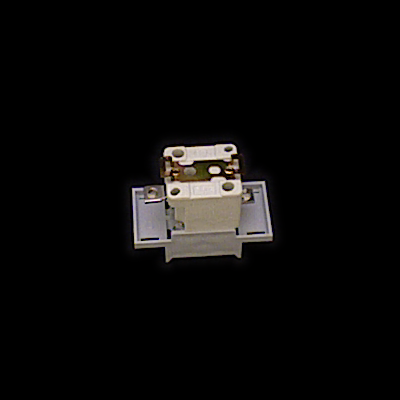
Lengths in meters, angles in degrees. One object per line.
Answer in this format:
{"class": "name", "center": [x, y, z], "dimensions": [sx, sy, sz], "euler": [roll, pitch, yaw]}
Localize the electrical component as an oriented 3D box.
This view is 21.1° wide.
{"class": "electrical component", "center": [0.000, 0.000, 0.628], "dimensions": [0.081, 0.042, 0.064], "euler": [-4, -38, -3]}
